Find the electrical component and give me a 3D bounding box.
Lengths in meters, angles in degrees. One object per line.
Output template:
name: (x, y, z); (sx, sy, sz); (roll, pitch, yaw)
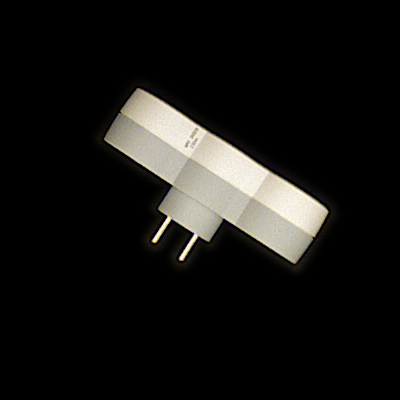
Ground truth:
electrical component: (0.000, 0.000, 0.639); (0.138, 0.074, 0.052); (33, -3, 3)
